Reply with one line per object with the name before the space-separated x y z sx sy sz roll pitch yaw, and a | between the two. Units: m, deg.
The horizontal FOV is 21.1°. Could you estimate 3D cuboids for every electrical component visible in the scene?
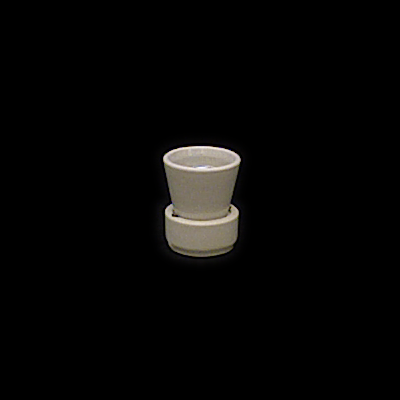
electrical component | 0.000 0.000 0.639 0.045 0.056 0.044 1 21 0
